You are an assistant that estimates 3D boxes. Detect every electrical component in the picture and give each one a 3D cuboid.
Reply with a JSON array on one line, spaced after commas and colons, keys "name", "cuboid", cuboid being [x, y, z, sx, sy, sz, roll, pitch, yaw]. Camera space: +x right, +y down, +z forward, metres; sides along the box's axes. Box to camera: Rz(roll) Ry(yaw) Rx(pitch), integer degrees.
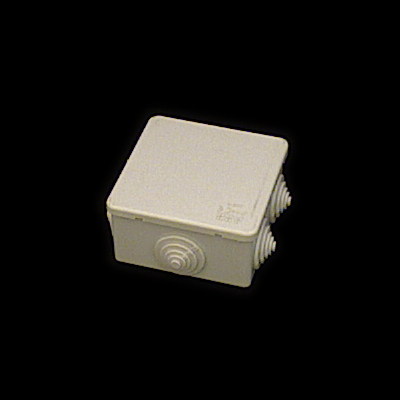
[{"name": "electrical component", "cuboid": [0.000, 0.000, 0.641, 0.099, 0.049, 0.099, 11, 44, 11]}]
